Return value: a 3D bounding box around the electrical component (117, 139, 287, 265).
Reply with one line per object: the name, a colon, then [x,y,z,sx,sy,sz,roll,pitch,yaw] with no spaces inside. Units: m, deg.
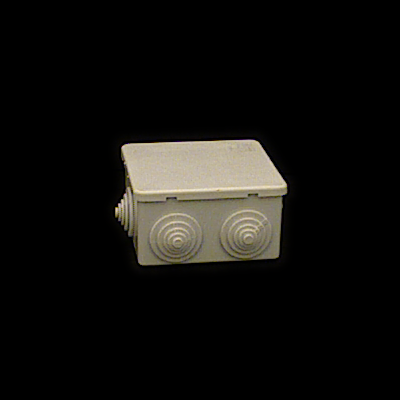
electrical component: [0.000,0.000,0.650,0.100,0.049,0.098,-2,22,-9]
